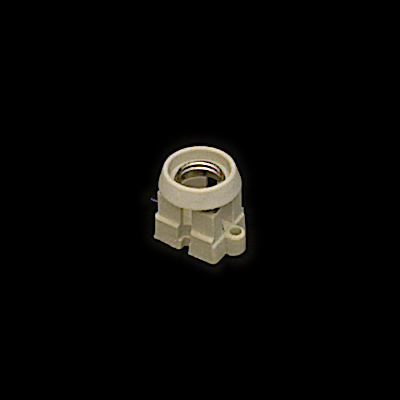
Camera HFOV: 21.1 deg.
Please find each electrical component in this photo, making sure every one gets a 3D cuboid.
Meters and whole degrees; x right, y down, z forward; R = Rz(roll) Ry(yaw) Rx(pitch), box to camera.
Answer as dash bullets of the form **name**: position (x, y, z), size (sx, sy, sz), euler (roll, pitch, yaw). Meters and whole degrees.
- **electrical component**: position (0.000, 0.000, 0.639), size (0.066, 0.056, 0.048), euler (22, 45, 22)
